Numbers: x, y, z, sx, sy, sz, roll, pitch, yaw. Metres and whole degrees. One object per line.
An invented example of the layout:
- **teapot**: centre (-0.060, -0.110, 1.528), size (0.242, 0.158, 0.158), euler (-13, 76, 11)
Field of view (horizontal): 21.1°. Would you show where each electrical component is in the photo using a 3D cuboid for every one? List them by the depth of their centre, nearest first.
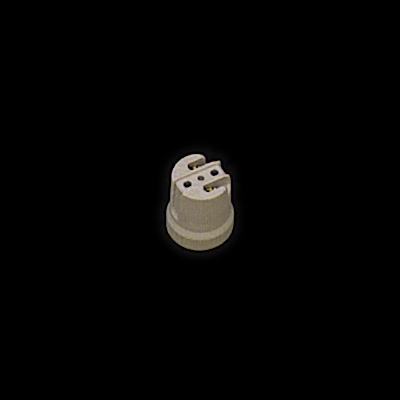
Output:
- **electrical component**: centre (0.000, 0.000, 0.634), size (0.040, 0.040, 0.046), euler (0, -37, 0)
